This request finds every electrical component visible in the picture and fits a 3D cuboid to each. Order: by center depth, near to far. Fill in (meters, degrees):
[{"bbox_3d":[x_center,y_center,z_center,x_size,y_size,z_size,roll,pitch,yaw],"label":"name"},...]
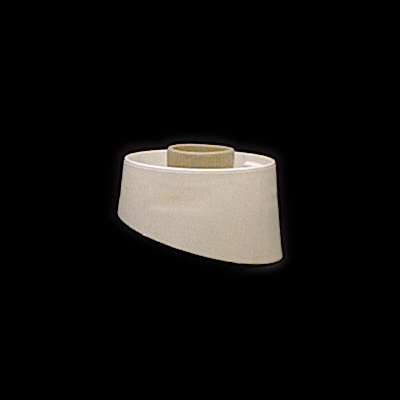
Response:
[{"bbox_3d":[0.000,0.000,0.643,0.099,0.064,0.098,2,10,0],"label":"electrical component"}]
